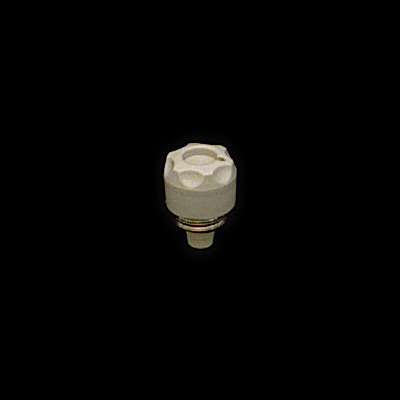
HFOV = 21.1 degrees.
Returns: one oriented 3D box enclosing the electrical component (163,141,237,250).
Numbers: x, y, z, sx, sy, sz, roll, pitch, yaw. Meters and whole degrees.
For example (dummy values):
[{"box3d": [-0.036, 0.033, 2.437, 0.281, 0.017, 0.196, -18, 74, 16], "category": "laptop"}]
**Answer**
[{"box3d": [0.000, 0.000, 0.641, 0.043, 0.063, 0.043, 0, 32, 1], "category": "electrical component"}]
